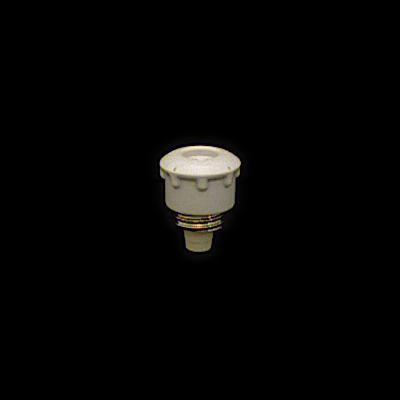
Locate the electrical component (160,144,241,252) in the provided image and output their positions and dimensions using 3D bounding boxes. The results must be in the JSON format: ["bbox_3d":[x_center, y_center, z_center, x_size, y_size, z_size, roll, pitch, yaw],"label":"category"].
[{"bbox_3d":[0.000,0.000,0.646,0.048,0.062,0.047,1,22,0],"label":"electrical component"}]
